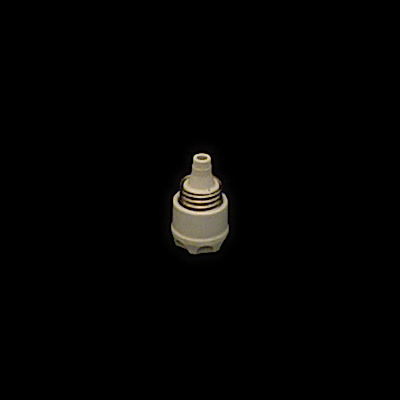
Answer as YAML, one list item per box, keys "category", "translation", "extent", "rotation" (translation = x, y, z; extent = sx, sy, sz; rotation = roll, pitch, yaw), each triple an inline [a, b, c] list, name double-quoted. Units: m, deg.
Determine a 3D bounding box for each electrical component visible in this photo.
- category: "electrical component"
  translation: [0.000, 0.000, 0.648]
  extent: [0.035, 0.062, 0.034]
  rotation: [2, 33, -1]
